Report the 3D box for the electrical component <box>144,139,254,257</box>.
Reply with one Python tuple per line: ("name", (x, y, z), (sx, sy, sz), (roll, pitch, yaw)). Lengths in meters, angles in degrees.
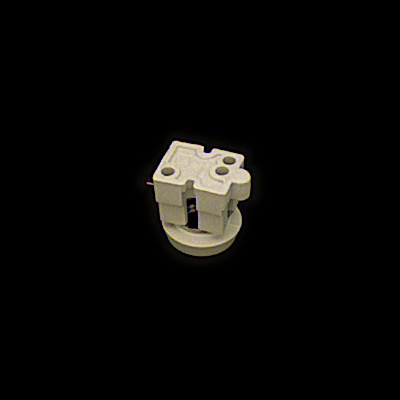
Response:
("electrical component", (0.000, 0.000, 0.641), (0.066, 0.056, 0.048), (13, 45, 15))
